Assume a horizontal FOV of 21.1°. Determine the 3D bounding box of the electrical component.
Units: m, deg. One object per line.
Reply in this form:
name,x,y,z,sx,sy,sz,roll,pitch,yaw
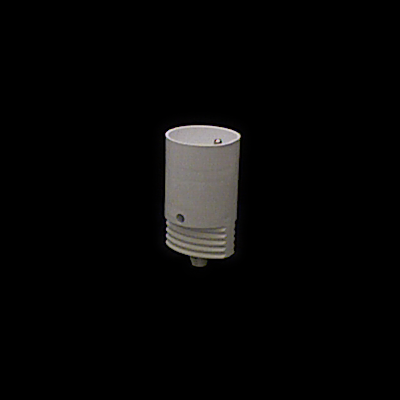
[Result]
electrical component,0.000,0.000,0.636,0.043,0.082,0.042,1,22,0
